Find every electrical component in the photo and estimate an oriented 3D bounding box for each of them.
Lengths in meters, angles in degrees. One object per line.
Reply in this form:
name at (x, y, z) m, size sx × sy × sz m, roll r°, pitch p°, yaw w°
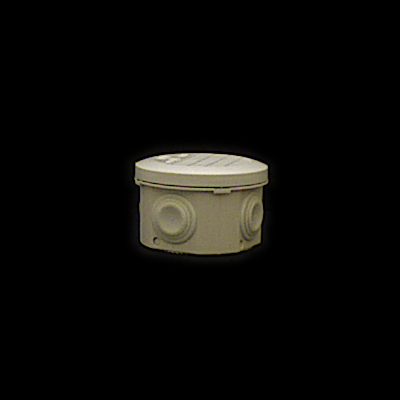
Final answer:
electrical component at (0.000, 0.000, 0.647) m, size 0.080 × 0.051 × 0.079 m, roll 1°, pitch 10°, yaw 0°
